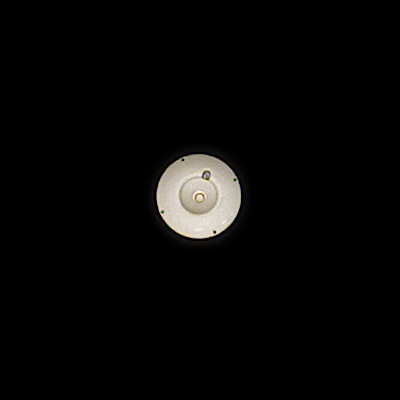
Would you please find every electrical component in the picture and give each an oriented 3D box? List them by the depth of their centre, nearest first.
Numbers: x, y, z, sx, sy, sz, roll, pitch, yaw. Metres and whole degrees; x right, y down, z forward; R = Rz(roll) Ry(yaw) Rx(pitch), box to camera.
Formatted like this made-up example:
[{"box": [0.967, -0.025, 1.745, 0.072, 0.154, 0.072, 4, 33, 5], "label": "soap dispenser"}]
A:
[{"box": [0.000, 0.000, 0.634, 0.048, 0.048, 0.062, 0, -6, 1], "label": "electrical component"}]
